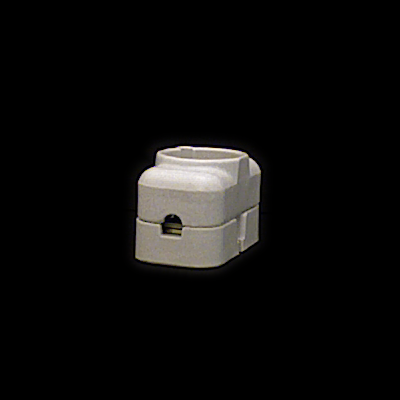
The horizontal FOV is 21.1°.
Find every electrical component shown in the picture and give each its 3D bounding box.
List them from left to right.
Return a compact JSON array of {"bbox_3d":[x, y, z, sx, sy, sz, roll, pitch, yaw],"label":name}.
[{"bbox_3d":[0.000,0.000,0.651,0.053,0.060,0.095,6,12,19],"label":"electrical component"}]
